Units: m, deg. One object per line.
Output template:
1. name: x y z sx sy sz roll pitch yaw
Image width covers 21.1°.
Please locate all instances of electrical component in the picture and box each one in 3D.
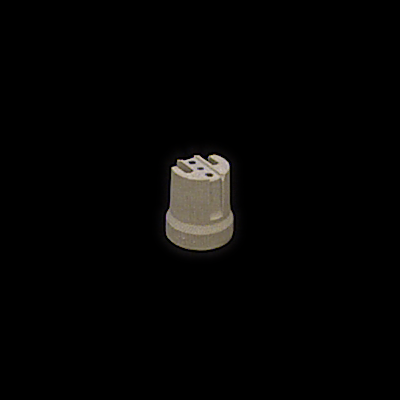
1. electrical component: 0.000 0.000 0.639 0.040 0.046 0.040 1 32 -1
